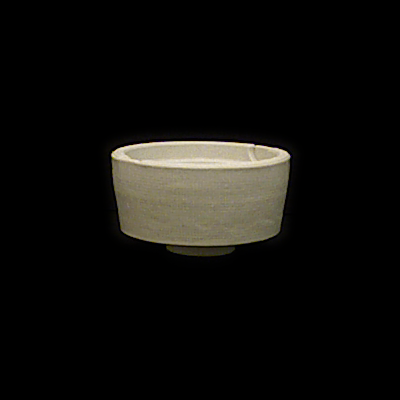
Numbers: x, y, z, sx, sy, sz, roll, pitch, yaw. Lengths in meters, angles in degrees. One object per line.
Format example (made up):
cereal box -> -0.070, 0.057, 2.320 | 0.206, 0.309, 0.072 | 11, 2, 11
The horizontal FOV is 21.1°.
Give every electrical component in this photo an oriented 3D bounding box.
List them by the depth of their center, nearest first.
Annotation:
electrical component -> 0.000, 0.000, 0.655 | 0.108, 0.061, 0.107 | 1, 11, 0
